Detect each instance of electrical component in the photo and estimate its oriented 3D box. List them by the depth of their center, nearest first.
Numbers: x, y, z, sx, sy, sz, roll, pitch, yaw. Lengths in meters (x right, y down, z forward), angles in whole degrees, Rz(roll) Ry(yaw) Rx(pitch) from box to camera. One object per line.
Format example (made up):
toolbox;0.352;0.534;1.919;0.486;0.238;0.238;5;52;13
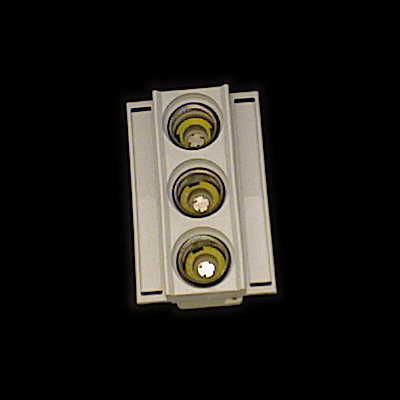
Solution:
electrical component;0.000;0.000;0.636;0.079;0.121;0.063;-4;-16;1
